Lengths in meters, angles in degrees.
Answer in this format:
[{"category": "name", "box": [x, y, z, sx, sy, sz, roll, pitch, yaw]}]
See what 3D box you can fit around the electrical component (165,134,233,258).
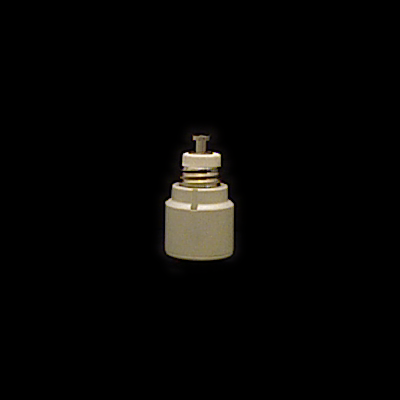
[{"category": "electrical component", "box": [0.000, 0.000, 0.644, 0.040, 0.079, 0.040, 1, 12, 0]}]
